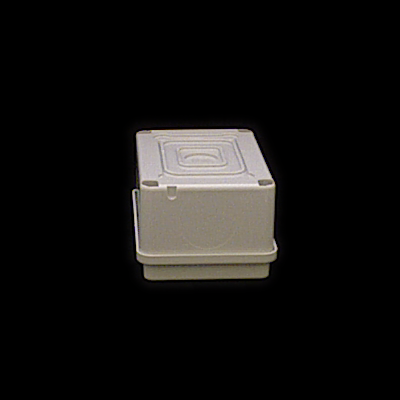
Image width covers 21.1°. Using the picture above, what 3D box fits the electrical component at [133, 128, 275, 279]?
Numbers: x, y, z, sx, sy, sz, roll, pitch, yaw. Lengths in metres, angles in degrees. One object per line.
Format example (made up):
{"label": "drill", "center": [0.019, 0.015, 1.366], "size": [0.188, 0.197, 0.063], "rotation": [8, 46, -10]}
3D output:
{"label": "electrical component", "center": [0.000, 0.000, 0.639], "size": [0.078, 0.058, 0.111], "rotation": [-1, 20, -5]}
